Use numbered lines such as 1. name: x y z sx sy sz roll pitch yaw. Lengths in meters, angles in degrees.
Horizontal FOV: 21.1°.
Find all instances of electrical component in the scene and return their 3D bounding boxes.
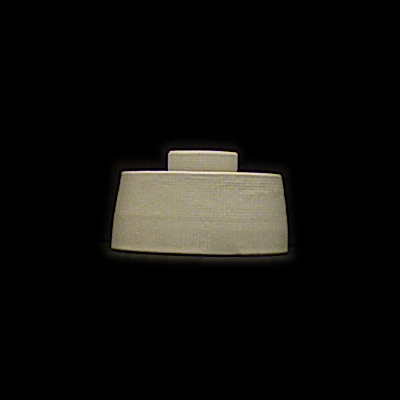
1. electrical component: 0.000 0.000 0.655 0.108 0.060 0.108 1 1 1
